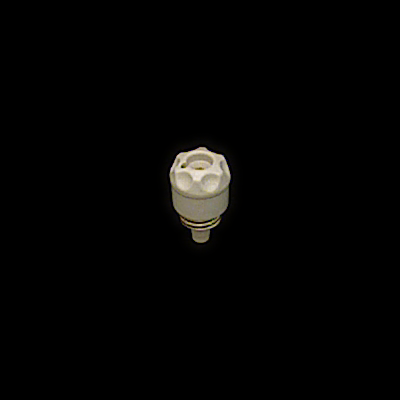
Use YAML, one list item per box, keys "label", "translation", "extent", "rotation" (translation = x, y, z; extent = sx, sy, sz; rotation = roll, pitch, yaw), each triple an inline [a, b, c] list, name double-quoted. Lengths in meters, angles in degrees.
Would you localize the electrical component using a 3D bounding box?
- label: "electrical component"
  translation: [0.000, 0.000, 0.638]
  extent: [0.035, 0.062, 0.035]
  rotation: [0, 42, 0]
